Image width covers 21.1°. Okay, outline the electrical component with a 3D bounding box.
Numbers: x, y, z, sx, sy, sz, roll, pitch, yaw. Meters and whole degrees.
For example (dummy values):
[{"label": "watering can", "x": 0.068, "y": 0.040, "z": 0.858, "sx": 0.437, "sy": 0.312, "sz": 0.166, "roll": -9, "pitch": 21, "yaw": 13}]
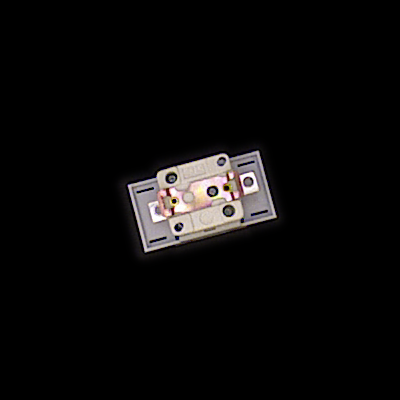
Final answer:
[{"label": "electrical component", "x": 0.000, "y": 0.000, "z": 0.626, "sx": 0.081, "sy": 0.042, "sz": 0.063, "roll": -15, "pitch": -6, "yaw": -2}]
